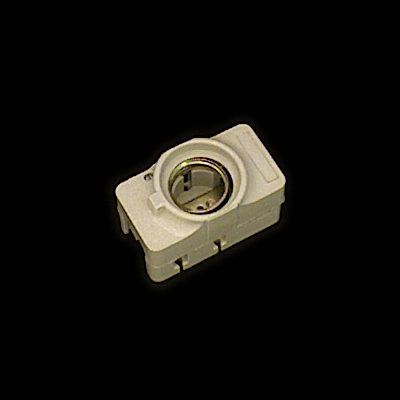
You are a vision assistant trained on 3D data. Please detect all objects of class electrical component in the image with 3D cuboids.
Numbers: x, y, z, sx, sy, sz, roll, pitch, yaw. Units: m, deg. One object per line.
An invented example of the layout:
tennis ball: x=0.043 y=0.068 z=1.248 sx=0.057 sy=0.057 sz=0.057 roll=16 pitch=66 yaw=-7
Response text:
electrical component: x=0.000 y=0.000 z=0.636 sx=0.090 sy=0.050 sz=0.055 roll=-27 pitch=-24 yaw=-13
